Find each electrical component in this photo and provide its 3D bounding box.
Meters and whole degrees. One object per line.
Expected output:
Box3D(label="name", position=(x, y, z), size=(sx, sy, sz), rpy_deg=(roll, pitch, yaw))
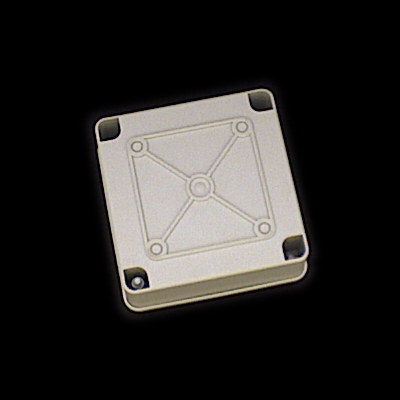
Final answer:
Box3D(label="electrical component", position=(0.000, 0.000, 0.627), size=(0.109, 0.109, 0.056), rpy_deg=(-11, -17, -3))
